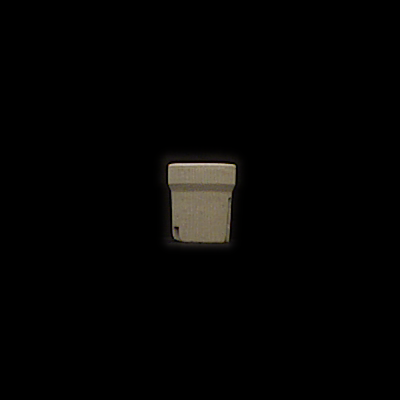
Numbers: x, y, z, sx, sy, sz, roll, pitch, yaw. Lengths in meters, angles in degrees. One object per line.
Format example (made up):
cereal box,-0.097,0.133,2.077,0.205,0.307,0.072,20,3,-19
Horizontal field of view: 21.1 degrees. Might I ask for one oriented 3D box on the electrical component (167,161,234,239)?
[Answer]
electrical component,0.000,0.000,0.649,0.040,0.046,0.040,1,1,1
